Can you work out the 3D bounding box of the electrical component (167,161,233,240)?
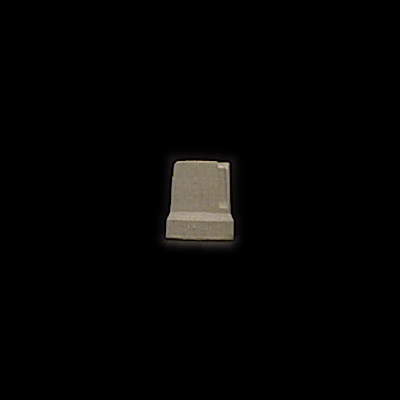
[{"bbox_3d":[0.000,0.000,0.652,0.040,0.046,0.040,2,1,0],"label":"electrical component"}]
